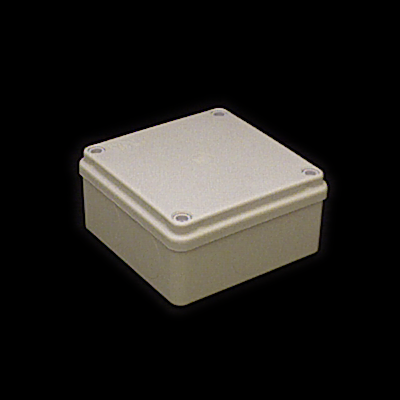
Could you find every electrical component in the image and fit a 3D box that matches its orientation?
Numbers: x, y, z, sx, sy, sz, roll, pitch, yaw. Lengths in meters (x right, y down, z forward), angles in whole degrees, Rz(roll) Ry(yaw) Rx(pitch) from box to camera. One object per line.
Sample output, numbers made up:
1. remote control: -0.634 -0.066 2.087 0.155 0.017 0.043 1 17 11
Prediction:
1. electrical component: 0.000 0.000 0.635 0.108 0.057 0.107 -20 38 -30
